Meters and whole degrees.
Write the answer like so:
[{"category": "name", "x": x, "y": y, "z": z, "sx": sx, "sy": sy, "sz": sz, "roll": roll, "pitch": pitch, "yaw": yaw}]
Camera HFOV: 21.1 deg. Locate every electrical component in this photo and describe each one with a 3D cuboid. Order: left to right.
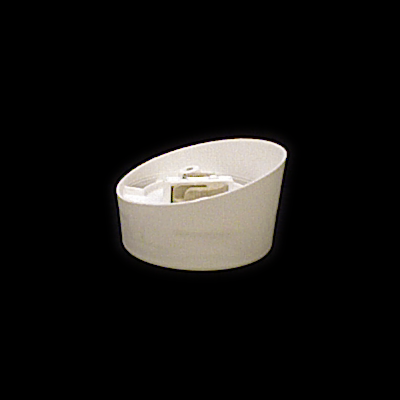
[{"category": "electrical component", "x": 0.000, "y": 0.000, "z": 0.639, "sx": 0.099, "sy": 0.065, "sz": 0.097, "roll": 2, "pitch": 20, "yaw": 0}]
